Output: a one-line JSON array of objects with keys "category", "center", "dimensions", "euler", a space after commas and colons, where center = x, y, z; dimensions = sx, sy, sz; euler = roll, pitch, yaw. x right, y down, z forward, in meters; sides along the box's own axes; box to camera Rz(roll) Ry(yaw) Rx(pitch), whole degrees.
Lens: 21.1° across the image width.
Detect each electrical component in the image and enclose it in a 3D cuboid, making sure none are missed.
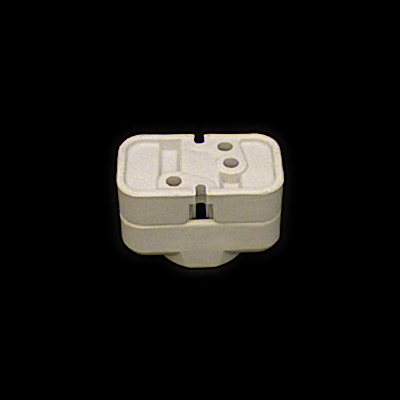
[{"category": "electrical component", "center": [0.000, 0.000, 0.640], "dimensions": [0.095, 0.060, 0.053], "euler": [-1, 43, -2]}]
